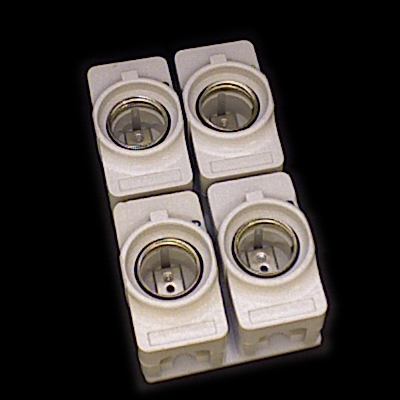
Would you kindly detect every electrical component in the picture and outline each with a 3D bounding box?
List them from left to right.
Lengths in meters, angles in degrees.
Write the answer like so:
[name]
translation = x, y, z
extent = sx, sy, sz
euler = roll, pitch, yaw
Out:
[electrical component]
translation = 0.000, 0.000, 0.625
extent = 0.106, 0.186, 0.060
euler = -11, -27, -6
